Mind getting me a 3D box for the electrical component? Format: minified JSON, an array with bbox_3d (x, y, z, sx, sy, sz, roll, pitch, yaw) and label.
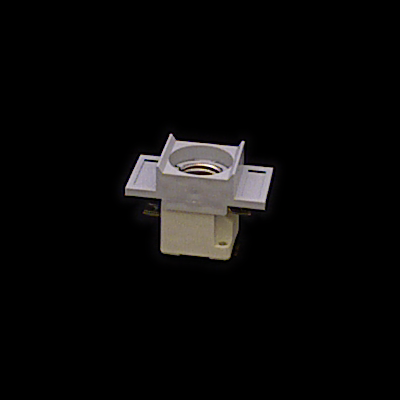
[{"bbox_3d":[0.000,0.000,0.633,0.081,0.064,0.041,6,33,8],"label":"electrical component"}]
